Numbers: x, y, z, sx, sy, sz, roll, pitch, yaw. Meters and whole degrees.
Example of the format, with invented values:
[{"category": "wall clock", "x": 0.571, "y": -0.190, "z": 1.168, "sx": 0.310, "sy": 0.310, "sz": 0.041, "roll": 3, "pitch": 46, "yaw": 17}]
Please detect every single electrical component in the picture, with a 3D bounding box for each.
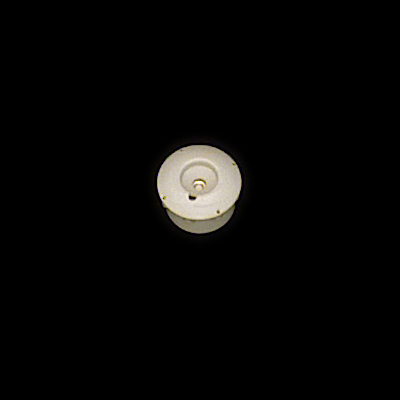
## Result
[{"category": "electrical component", "x": 0.000, "y": 0.000, "z": 0.633, "sx": 0.048, "sy": 0.048, "sz": 0.062, "roll": 0, "pitch": -26, "yaw": 0}]
